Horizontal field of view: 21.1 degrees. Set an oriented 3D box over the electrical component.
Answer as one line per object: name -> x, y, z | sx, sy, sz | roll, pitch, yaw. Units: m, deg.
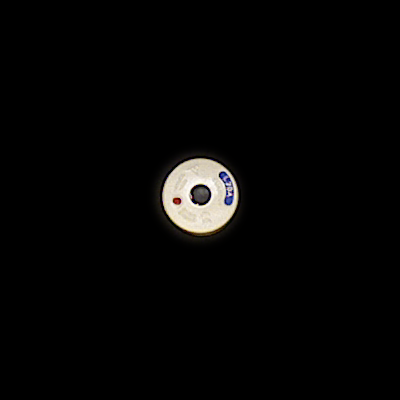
electrical component -> 0.000, 0.000, 0.617 | 0.040, 0.040, 0.078 | 0, -5, 1
